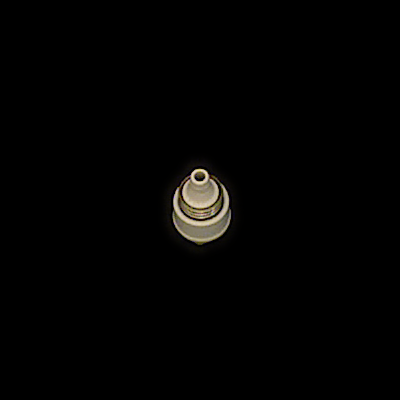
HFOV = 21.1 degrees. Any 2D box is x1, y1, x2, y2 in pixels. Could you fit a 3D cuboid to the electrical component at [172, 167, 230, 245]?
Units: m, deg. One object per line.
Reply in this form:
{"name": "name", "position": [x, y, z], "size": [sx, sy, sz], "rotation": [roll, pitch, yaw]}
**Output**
{"name": "electrical component", "position": [0.000, 0.000, 0.637], "size": [0.035, 0.035, 0.061], "rotation": [0, -28, 1]}
